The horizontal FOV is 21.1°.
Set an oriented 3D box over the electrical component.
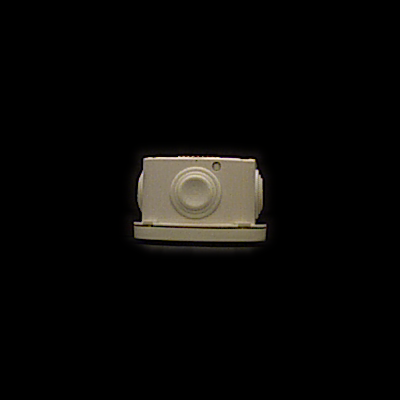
[{"bbox_3d":[0.000,0.000,0.649,0.080,0.051,0.080,1,1,0],"label":"electrical component"}]
